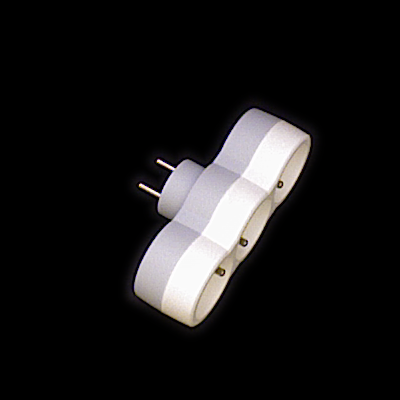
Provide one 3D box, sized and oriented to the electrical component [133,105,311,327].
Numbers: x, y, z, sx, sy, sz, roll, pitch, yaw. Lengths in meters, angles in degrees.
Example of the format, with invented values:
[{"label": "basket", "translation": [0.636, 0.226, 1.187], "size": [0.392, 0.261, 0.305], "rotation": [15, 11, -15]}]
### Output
[{"label": "electrical component", "translation": [0.000, 0.000, 0.629], "size": [0.073, 0.139, 0.052], "rotation": [28, -23, 15]}]
